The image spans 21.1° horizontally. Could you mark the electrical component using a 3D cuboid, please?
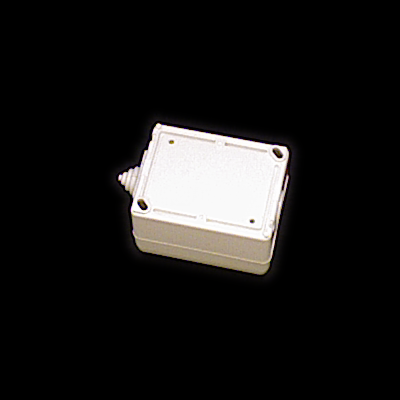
[{"bbox_3d":[0.000,0.000,0.629,0.096,0.062,0.061,11,-27,6],"label":"electrical component"}]
